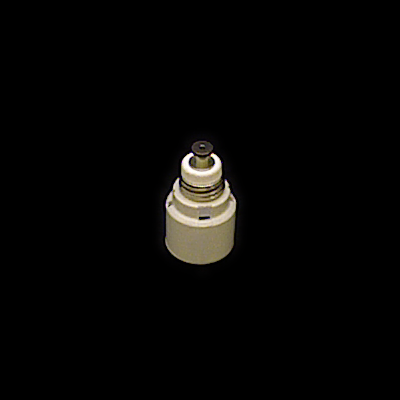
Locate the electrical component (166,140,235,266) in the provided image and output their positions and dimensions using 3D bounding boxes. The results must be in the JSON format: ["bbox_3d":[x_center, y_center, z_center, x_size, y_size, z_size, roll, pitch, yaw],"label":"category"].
[{"bbox_3d":[0.000,0.000,0.624,0.040,0.079,0.039,1,41,-1],"label":"electrical component"}]
